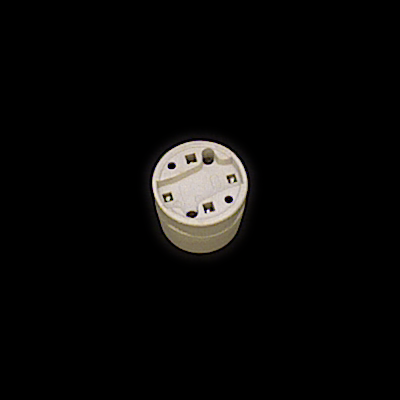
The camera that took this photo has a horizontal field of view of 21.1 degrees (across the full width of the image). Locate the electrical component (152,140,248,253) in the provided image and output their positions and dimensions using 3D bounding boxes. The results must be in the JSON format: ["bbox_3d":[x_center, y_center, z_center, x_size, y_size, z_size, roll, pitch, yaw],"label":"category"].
[{"bbox_3d":[0.000,0.000,0.633,0.055,0.056,0.047,0,-28,0],"label":"electrical component"}]
